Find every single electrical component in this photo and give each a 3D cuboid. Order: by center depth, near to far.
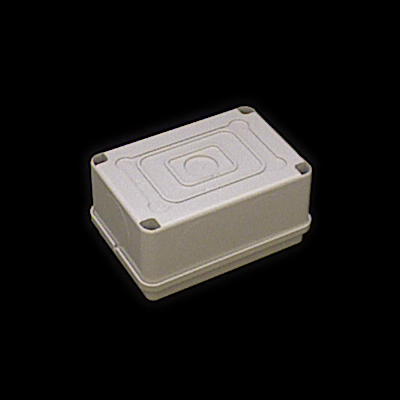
[{"bbox_3d":[0.000,0.000,0.631,0.113,0.057,0.077,-20,46,-22],"label":"electrical component"}]
